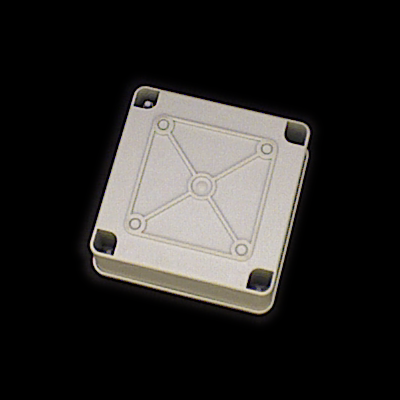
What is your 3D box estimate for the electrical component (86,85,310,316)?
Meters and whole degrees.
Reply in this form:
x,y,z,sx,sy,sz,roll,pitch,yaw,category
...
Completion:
x,y,z,sx,sy,sz,roll,pitch,yaw,category
0.000,0.000,0.628,0.108,0.109,0.056,14,-17,5,electrical component
